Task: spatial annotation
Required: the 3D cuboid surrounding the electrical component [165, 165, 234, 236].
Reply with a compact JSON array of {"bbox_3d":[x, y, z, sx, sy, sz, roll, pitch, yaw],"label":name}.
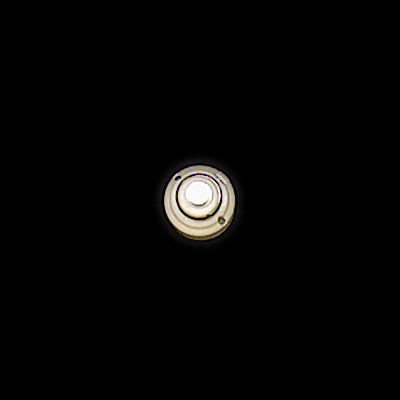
[{"bbox_3d":[0.000,0.000,0.618,0.040,0.040,0.078,0,-6,1],"label":"electrical component"}]
